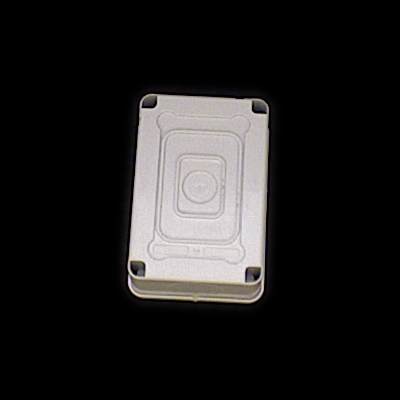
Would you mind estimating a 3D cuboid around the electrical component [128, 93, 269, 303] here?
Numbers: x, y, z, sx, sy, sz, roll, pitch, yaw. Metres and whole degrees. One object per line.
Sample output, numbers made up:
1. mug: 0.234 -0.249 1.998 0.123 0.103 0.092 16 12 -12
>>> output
1. electrical component: 0.000 0.000 0.627 0.078 0.113 0.057 3 -16 0
